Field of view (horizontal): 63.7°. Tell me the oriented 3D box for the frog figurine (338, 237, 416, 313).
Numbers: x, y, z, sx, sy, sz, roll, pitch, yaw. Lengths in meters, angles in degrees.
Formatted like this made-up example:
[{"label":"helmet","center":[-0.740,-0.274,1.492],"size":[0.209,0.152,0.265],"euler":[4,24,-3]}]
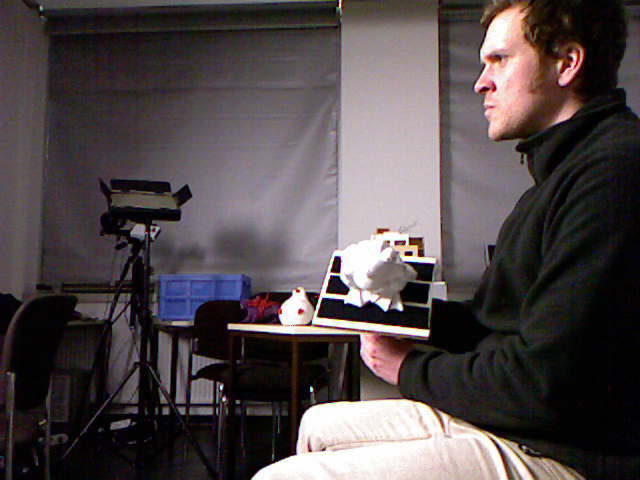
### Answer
[{"label":"frog figurine","center":[0.097,0.043,0.897],"size":[0.138,0.156,0.125],"euler":[18,46,23]}]
